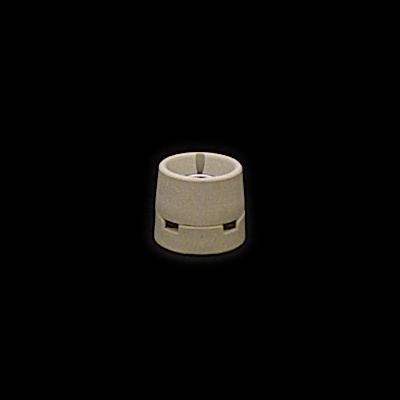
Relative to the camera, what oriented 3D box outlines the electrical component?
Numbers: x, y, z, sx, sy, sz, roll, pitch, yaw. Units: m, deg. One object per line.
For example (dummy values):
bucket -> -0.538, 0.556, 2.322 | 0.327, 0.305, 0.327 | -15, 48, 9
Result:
electrical component -> 0.000, 0.000, 0.640 | 0.055, 0.047, 0.055 | 1, 22, 0
